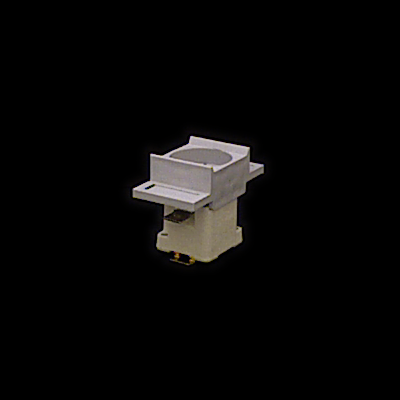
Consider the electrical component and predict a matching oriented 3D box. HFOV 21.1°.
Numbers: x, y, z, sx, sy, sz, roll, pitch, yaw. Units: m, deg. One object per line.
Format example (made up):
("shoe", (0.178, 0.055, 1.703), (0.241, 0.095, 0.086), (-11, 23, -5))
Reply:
("electrical component", (0.000, 0.000, 0.640), (0.042, 0.064, 0.080), (13, 24, 30))
